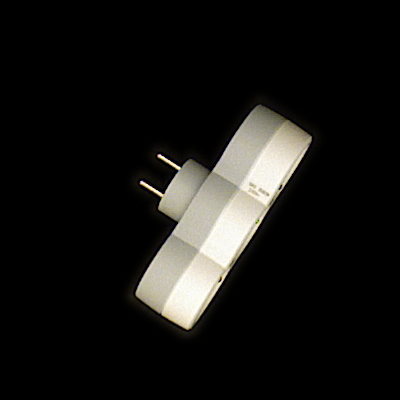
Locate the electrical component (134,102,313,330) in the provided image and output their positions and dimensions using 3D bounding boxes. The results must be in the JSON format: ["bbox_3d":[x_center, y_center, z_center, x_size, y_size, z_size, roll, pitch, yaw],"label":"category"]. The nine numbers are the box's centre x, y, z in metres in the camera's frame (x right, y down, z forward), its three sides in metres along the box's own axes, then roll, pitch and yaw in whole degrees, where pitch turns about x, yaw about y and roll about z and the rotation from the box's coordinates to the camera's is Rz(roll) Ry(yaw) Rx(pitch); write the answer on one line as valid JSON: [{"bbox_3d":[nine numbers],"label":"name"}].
[{"bbox_3d":[0.000,0.000,0.639,0.073,0.138,0.052,33,-5,5],"label":"electrical component"}]
